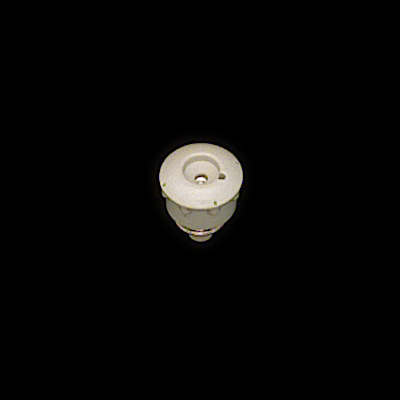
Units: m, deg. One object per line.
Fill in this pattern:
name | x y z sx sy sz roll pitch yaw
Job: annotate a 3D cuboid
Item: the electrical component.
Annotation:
electrical component | 0.000 0.000 0.636 0.048 0.048 0.062 0 -37 0
